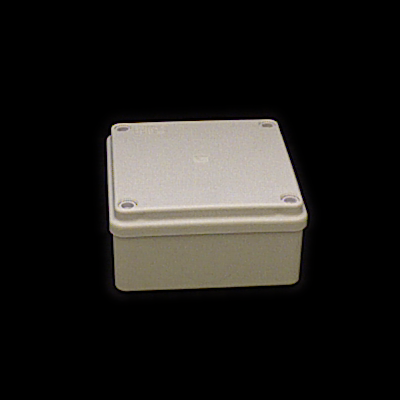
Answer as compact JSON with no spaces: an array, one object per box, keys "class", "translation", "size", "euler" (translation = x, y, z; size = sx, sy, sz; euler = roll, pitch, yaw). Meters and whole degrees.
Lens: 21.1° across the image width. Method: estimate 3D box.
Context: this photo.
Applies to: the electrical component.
[{"class":"electrical component","translation":[0.000,0.000,0.634],"size":[0.109,0.057,0.107],"euler":[-2,32,-5]}]
